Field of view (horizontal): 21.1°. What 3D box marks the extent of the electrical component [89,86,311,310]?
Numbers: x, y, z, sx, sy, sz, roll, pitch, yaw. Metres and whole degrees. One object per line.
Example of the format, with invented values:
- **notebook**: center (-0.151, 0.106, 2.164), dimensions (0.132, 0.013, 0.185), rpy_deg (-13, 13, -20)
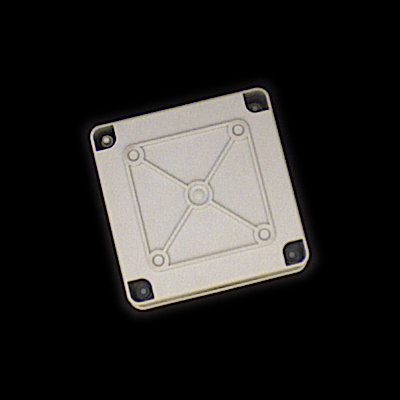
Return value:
- **electrical component**: center (0.000, 0.000, 0.628), dimensions (0.109, 0.109, 0.056), rpy_deg (-14, -7, -1)
